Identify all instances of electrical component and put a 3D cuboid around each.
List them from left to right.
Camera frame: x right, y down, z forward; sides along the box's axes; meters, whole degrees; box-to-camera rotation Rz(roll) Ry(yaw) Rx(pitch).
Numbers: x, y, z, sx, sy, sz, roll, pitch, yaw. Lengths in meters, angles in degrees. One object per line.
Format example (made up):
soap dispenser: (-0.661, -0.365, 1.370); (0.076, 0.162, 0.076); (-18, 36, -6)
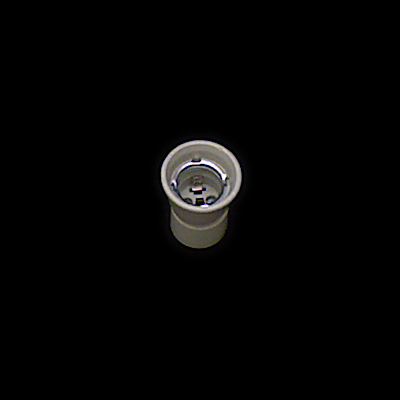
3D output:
electrical component: (0.000, 0.000, 0.625); (0.044, 0.044, 0.065); (0, -28, -1)
